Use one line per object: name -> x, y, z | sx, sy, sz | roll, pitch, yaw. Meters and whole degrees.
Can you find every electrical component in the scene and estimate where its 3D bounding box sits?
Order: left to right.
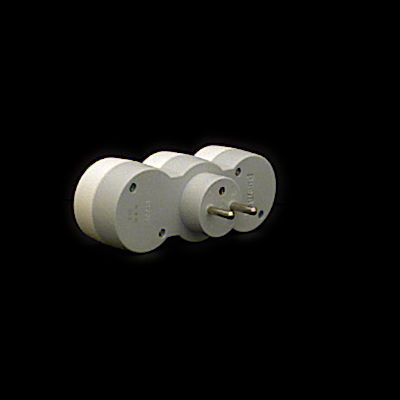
electrical component -> 0.000, 0.000, 0.648 | 0.139, 0.052, 0.072 | -10, 17, -44
